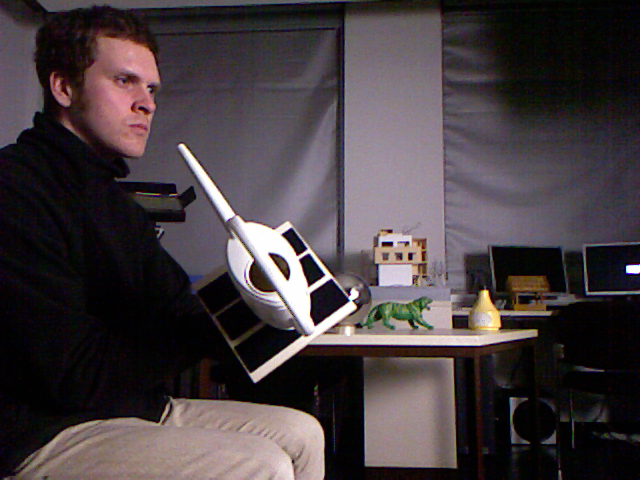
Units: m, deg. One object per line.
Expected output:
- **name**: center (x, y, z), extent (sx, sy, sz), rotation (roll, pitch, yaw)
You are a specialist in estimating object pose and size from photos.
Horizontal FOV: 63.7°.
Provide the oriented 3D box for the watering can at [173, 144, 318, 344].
- **watering can**: center (-0.107, 0.018, 0.796), extent (0.105, 0.353, 0.221), rotation (-33, -20, -11)
